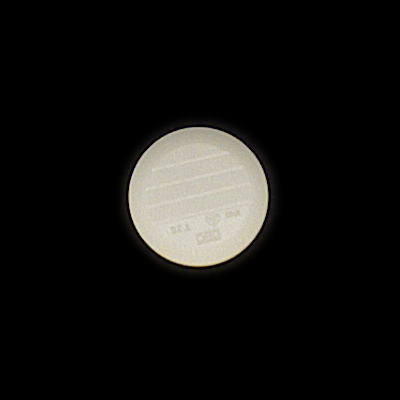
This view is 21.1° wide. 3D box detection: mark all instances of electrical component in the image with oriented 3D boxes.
[{"bbox_3d":[0.000,0.000,0.631,0.080,0.080,0.050,0,-7,0],"label":"electrical component"}]
